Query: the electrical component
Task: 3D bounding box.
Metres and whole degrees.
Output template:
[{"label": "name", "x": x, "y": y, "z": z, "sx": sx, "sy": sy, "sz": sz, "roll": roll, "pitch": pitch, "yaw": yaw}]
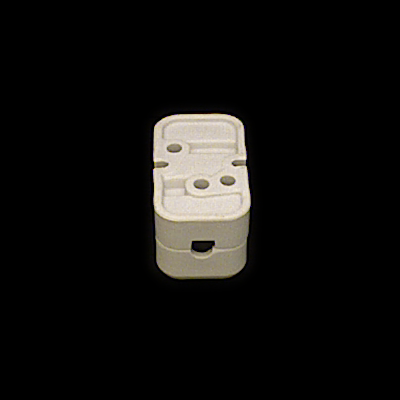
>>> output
[{"label": "electrical component", "x": 0.000, "y": 0.000, "z": 0.639, "sx": 0.054, "sy": 0.060, "sz": 0.094, "roll": -1, "pitch": 42, "yaw": -2}]
